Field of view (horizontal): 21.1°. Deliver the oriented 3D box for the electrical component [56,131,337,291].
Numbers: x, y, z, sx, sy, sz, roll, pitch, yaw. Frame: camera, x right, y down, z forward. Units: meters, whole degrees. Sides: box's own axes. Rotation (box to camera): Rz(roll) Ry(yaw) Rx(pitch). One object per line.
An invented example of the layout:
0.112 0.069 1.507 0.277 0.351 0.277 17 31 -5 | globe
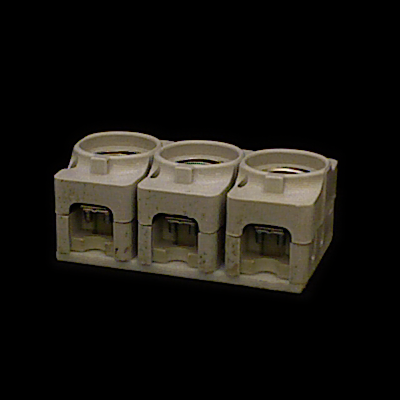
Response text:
0.000 0.000 0.643 0.150 0.063 0.088 6 22 15 | electrical component
